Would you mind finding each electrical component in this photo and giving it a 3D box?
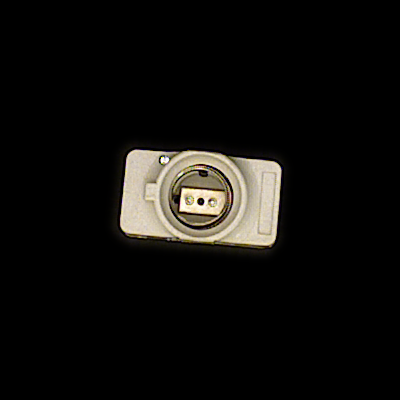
[{"bbox_3d":[0.000,0.000,0.637,0.089,0.050,0.055,5,-5,1],"label":"electrical component"}]
